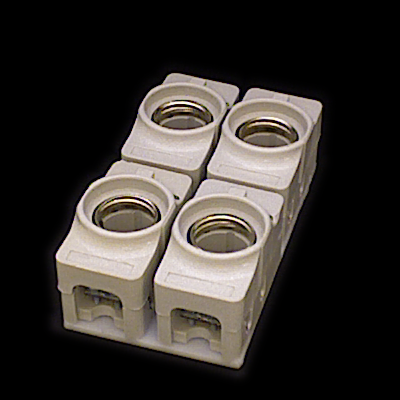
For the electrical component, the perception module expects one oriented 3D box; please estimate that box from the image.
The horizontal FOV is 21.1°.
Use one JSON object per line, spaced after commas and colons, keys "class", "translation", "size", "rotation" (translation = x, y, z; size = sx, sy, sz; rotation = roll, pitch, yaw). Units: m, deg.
{"class": "electrical component", "translation": [0.000, 0.000, 0.630], "size": [0.105, 0.061, 0.185], "rotation": [13, 43, 13]}
